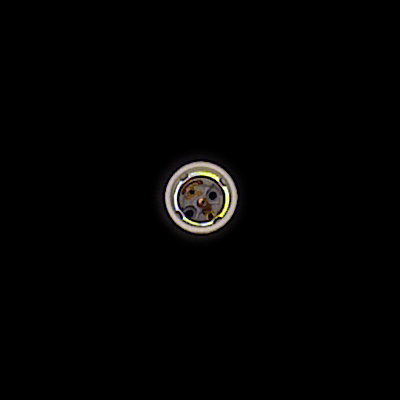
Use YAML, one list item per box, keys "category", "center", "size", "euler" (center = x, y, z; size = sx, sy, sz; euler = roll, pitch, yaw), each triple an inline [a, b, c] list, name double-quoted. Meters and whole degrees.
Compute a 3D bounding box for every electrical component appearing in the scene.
- category: "electrical component"
  center: [0.000, 0.000, 0.627]
  size: [0.040, 0.040, 0.046]
  euler: [0, -6, 0]
